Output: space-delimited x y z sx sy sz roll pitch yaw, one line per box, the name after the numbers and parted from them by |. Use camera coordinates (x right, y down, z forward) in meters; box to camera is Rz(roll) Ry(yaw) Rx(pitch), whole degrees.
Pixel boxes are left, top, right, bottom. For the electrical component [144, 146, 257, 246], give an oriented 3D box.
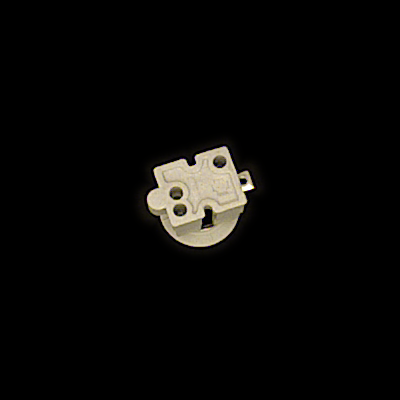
0.000 0.000 0.637 0.067 0.048 0.055 -18 -16 -6 | electrical component
